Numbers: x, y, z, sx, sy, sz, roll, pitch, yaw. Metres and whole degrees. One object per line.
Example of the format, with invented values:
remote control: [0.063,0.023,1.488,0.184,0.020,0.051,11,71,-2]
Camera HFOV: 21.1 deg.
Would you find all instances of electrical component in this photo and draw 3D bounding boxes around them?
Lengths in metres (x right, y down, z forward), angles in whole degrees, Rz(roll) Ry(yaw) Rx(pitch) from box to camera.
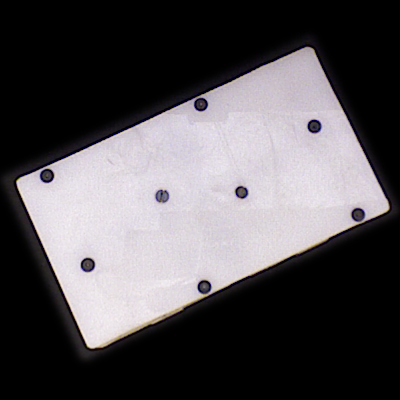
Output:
electrical component: [0.000,0.000,0.626,0.186,0.106,0.060,-25,-6,-3]
